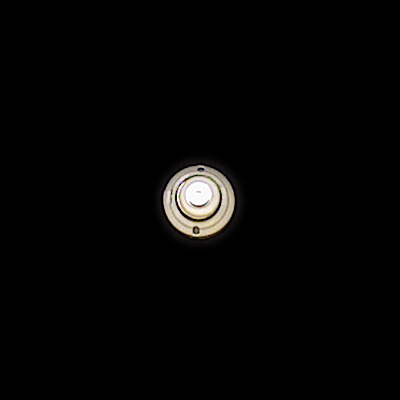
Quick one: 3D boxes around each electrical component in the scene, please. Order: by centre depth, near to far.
[{"bbox_3d":[0.000,0.000,0.618,0.040,0.040,0.078,0,-5,0],"label":"electrical component"}]
